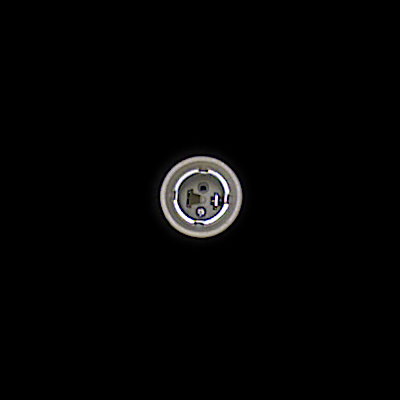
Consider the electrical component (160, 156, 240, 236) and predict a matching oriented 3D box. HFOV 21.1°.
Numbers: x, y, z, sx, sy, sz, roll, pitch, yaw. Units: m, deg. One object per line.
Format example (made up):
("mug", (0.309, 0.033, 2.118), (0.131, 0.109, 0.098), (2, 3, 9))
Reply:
("electrical component", (0.000, 0.000, 0.624), (0.044, 0.044, 0.065), (0, -5, 0))
